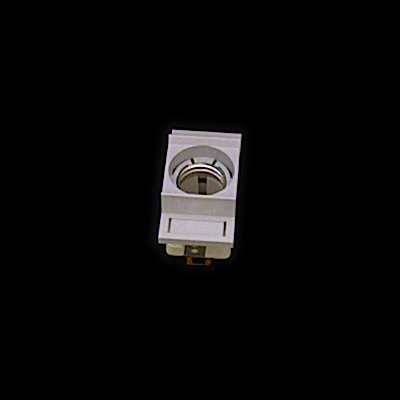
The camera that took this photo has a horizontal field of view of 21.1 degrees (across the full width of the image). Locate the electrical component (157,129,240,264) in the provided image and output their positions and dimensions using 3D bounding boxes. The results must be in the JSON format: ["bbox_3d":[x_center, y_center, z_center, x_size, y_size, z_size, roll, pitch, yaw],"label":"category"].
[{"bbox_3d":[0.000,0.000,0.624,0.042,0.080,0.064,5,-38,2],"label":"electrical component"}]
